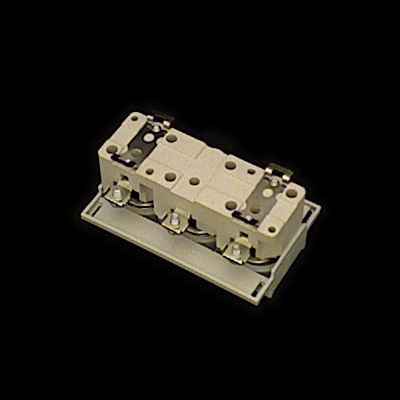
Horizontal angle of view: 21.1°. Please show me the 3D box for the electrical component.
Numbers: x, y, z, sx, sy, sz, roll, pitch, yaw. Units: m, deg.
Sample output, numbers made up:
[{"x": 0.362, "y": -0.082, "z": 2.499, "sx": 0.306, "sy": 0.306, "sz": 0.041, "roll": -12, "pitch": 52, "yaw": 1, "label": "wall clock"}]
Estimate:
[{"x": 0.000, "y": 0.000, "z": 0.637, "sx": 0.121, "sy": 0.078, "sz": 0.063, "roll": 25, "pitch": -34, "yaw": 17, "label": "electrical component"}]
